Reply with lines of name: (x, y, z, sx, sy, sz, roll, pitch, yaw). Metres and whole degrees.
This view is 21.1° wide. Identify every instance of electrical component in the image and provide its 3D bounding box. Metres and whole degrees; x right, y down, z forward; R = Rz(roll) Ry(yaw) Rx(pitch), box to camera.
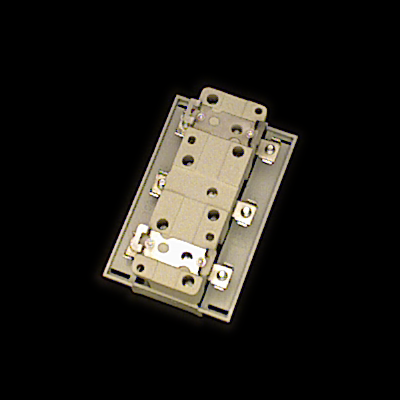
electrical component: (0.000, 0.000, 0.633, 0.078, 0.122, 0.062, 19, -15, 7)
